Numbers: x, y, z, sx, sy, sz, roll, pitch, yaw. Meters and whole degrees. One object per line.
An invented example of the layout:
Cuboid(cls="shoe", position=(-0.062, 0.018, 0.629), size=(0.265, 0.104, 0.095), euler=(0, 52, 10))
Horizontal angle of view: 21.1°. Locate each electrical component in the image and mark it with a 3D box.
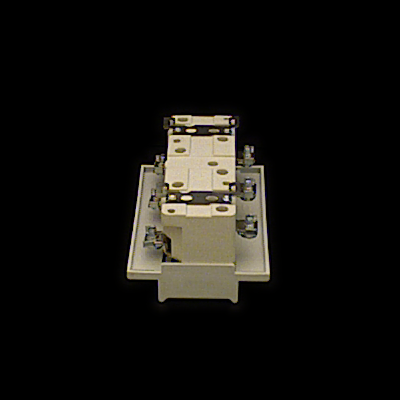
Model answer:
Cuboid(cls="electrical component", position=(0.000, 0.000, 0.640), size=(0.079, 0.064, 0.120), euler=(0, 32, 1))
